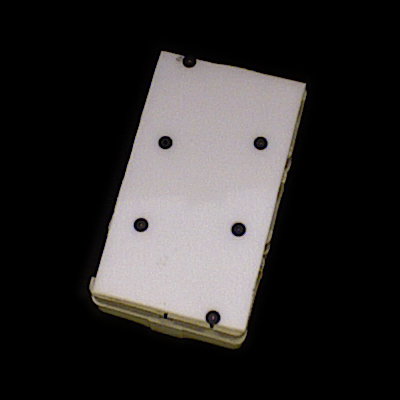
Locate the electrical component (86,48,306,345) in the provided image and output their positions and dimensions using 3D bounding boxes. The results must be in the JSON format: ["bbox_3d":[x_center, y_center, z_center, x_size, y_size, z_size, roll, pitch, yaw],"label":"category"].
[{"bbox_3d":[0.000,0.000,0.629,0.089,0.150,0.062,14,-16,5],"label":"electrical component"}]
